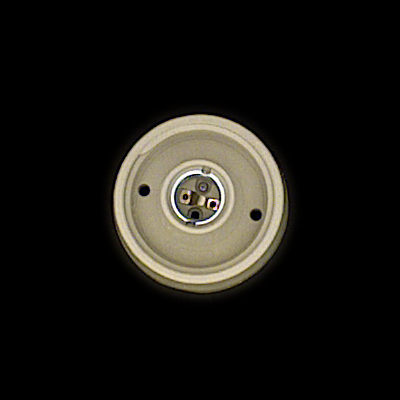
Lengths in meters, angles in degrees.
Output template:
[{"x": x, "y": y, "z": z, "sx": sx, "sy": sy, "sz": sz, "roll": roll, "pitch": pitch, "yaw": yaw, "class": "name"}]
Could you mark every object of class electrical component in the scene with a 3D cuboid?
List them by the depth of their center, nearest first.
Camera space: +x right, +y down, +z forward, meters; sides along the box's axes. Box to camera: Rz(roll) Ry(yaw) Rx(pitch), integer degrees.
[{"x": 0.000, "y": 0.000, "z": 0.635, "sx": 0.108, "sy": 0.108, "sz": 0.060, "roll": 0, "pitch": -6, "yaw": 0, "class": "electrical component"}]
